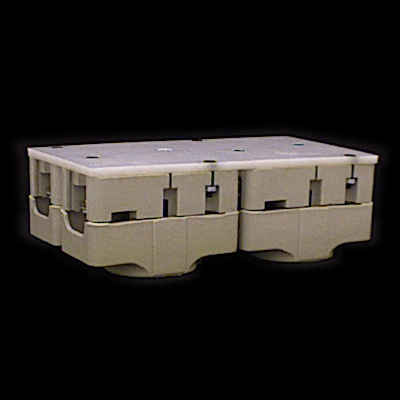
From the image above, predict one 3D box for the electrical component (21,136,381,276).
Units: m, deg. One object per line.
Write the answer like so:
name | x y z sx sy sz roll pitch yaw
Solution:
electrical component | 0.000 0.000 0.644 0.186 0.060 0.104 -4 11 -28
